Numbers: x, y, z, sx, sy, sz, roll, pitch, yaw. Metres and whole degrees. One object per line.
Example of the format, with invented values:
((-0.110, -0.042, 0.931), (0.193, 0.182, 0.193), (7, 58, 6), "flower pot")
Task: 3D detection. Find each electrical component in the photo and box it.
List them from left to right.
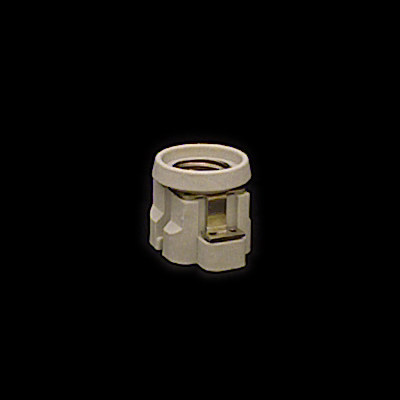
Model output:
((0.000, 0.000, 0.638), (0.058, 0.057, 0.077), (-9, 23, -24), "electrical component")
